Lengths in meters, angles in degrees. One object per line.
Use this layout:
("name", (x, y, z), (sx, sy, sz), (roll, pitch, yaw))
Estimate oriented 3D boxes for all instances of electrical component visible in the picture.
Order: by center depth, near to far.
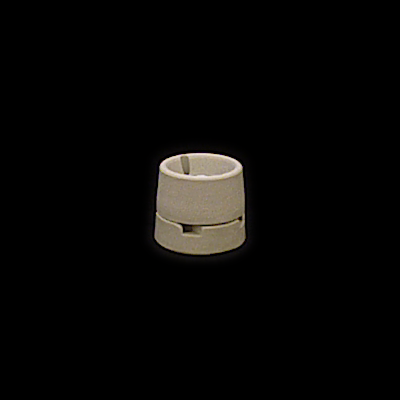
("electrical component", (0.000, 0.000, 0.643), (0.055, 0.047, 0.055), (1, 20, 0))
